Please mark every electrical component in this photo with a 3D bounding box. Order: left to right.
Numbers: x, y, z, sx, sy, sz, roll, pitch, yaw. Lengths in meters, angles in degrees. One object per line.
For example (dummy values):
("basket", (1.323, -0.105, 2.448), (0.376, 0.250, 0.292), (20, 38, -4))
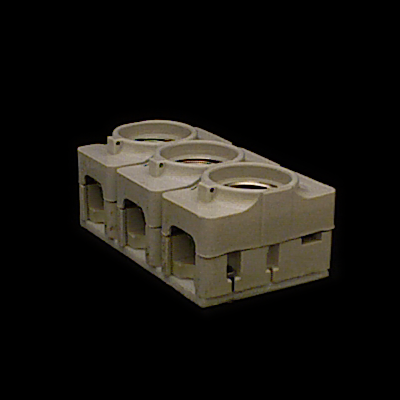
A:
("electrical component", (0.000, 0.000, 0.644), (0.089, 0.063, 0.148), (-13, 24, -31))
